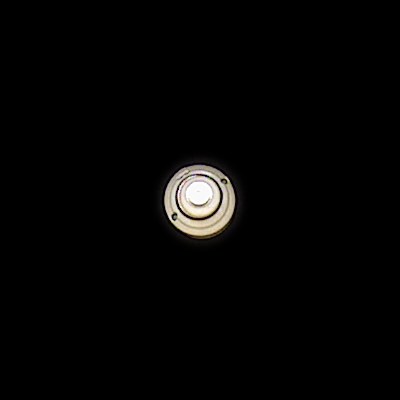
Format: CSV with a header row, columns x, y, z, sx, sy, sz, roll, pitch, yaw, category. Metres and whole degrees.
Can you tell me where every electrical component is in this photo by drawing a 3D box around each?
x,y,z,sx,sy,sz,roll,pitch,yaw,category
0.000,0.000,0.618,0.040,0.040,0.078,0,-5,1,electrical component
